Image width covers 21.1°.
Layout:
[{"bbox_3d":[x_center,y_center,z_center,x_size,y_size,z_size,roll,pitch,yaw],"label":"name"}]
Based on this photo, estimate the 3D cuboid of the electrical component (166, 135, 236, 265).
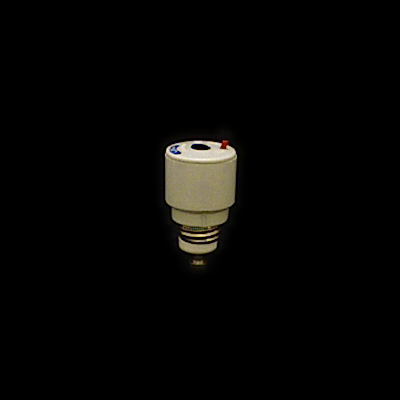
[{"bbox_3d":[0.000,0.000,0.635,0.040,0.079,0.039,1,21,-1],"label":"electrical component"}]
